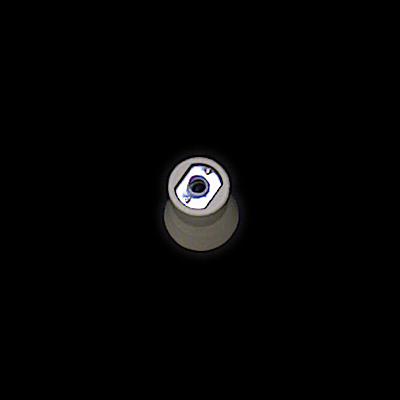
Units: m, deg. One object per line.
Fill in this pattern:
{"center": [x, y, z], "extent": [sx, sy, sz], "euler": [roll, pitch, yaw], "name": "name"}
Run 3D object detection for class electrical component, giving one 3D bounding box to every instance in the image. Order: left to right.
{"center": [0.000, 0.000, 0.625], "extent": [0.044, 0.044, 0.065], "euler": [0, -17, 1], "name": "electrical component"}
